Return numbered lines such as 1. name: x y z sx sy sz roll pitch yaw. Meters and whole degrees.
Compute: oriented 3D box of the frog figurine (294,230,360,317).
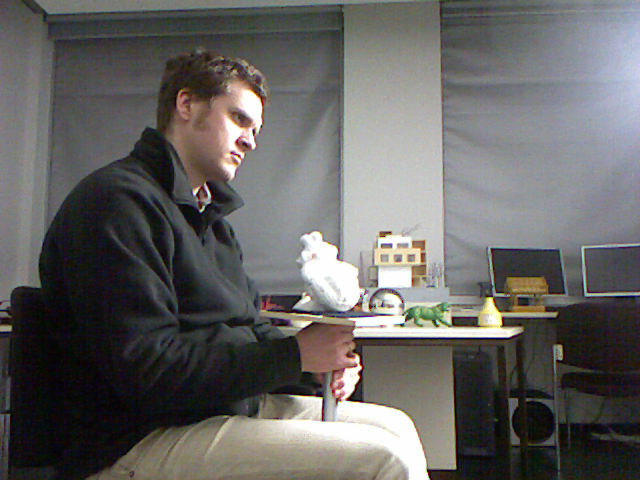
1. frog figurine: 0.015 0.063 0.978 0.137 0.160 0.123 3 0 -33
